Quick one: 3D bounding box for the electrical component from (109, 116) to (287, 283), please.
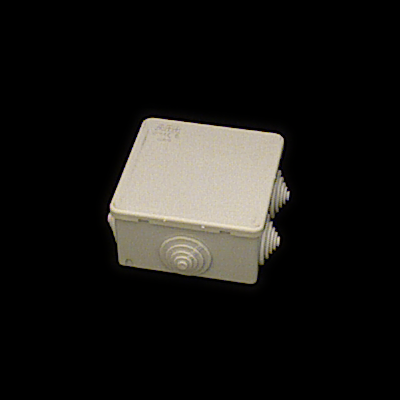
[{"bbox_3d":[0.000,0.000,0.642,0.099,0.049,0.099,8,43,8],"label":"electrical component"}]
